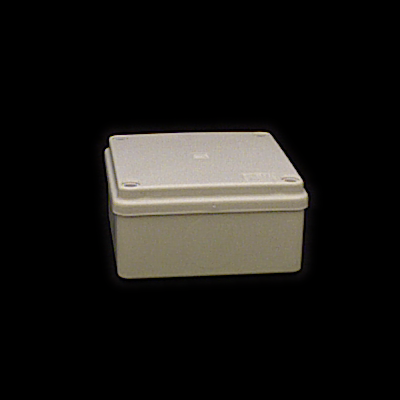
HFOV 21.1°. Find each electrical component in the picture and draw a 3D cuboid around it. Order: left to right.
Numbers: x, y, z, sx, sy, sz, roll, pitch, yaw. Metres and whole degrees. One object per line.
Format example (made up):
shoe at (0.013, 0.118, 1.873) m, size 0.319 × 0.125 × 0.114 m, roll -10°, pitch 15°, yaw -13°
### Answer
electrical component at (0.000, 0.000, 0.641) m, size 0.109 × 0.057 × 0.107 m, roll -2°, pitch 20°, yaw -8°
